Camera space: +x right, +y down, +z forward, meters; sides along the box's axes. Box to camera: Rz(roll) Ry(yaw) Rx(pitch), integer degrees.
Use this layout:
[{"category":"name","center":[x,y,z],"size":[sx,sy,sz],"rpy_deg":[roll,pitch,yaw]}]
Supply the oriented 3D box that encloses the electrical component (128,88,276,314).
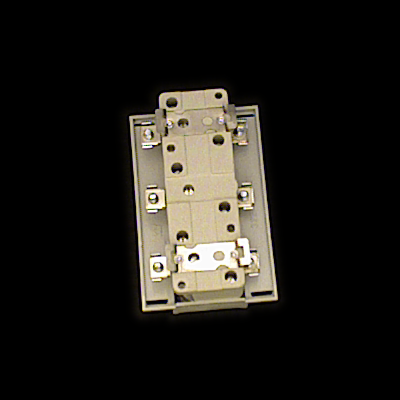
[{"category":"electrical component","center":[0.000,0.000,0.634],"size":[0.079,0.122,0.062],"rpy_deg":[-5,-16,-2]}]
